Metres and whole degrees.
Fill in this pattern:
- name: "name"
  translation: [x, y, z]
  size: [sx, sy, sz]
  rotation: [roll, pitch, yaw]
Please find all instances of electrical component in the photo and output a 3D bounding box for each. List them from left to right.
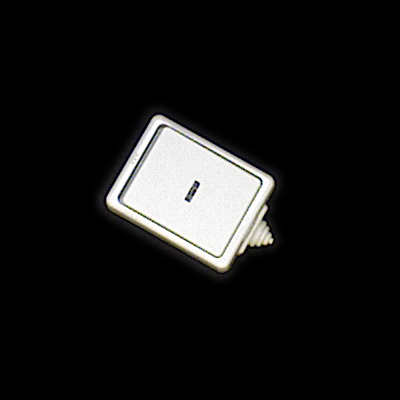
- name: "electrical component"
  translation: [0.000, 0.000, 0.626]
  size: [0.096, 0.062, 0.061]
  rotation: [29, -5, 4]
